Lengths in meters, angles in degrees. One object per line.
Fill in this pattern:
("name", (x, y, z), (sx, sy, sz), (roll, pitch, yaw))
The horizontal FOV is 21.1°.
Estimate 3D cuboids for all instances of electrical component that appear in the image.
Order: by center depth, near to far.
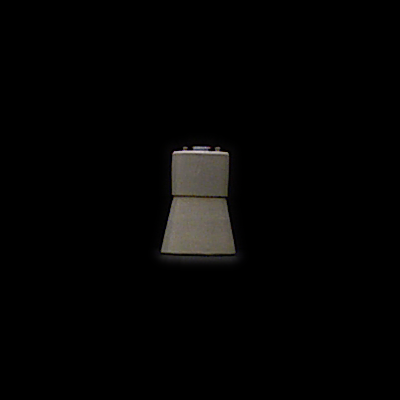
("electrical component", (0.000, 0.000, 0.648), (0.044, 0.065, 0.044), (1, 2, 0))
